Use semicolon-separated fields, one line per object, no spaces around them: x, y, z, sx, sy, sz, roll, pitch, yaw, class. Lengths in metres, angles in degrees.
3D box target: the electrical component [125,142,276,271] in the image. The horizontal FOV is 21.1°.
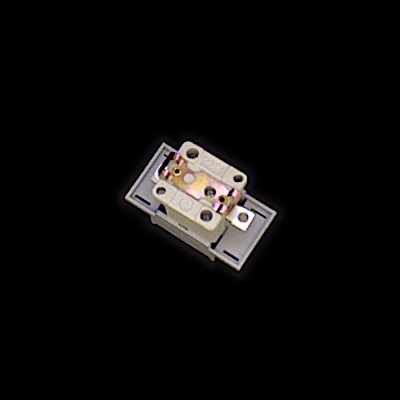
0.000;0.000;0.625;0.081;0.042;0.063;31;-14;9;electrical component
